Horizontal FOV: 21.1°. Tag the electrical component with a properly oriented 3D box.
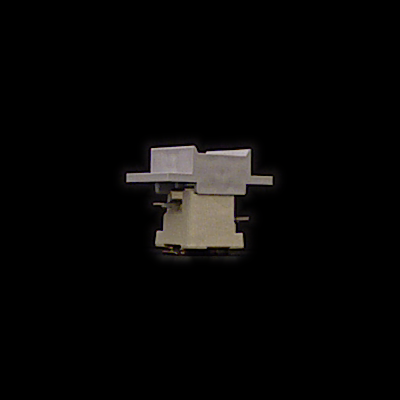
[{"bbox_3d":[0.000,0.000,0.652,0.081,0.064,0.042,0,0,-38],"label":"electrical component"}]
